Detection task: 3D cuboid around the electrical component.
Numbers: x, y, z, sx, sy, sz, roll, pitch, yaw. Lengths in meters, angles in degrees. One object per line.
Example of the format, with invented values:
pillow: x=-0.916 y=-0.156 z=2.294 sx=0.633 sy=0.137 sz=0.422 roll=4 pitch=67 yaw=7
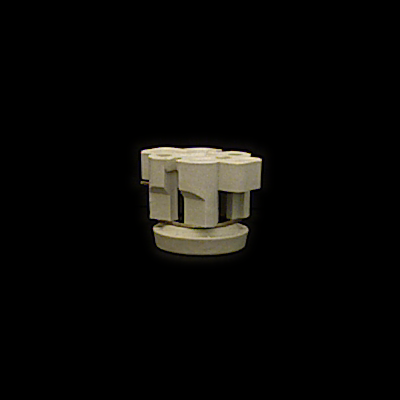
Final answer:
electrical component: x=0.000 y=0.000 z=0.651 sx=0.077 sy=0.057 sz=0.058 roll=8 pitch=14 yaw=37
